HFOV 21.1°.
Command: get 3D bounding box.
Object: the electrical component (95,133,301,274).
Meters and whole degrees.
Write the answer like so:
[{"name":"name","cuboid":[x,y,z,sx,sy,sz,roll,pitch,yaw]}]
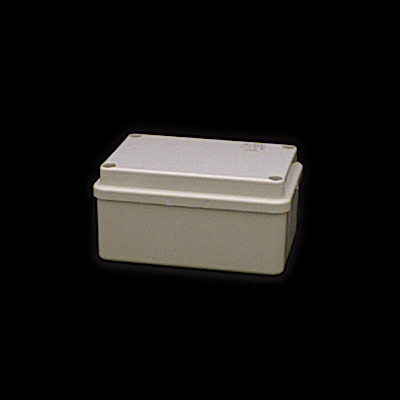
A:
[{"name":"electrical component","cuboid":[0.000,0.000,0.641,0.113,0.058,0.077,5,21,10]}]
